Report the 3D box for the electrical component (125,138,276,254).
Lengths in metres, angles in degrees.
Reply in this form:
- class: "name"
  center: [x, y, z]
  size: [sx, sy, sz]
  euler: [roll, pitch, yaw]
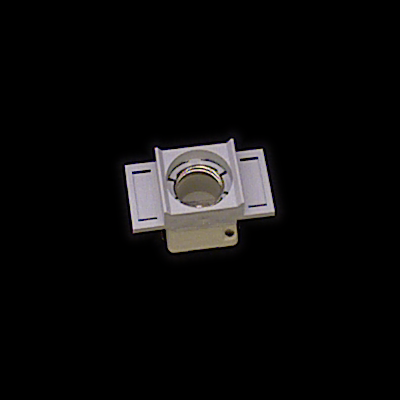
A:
- class: "electrical component"
  center: [0.000, 0.000, 0.624]
  size: [0.081, 0.042, 0.063]
  euler: [-7, -26, -4]
